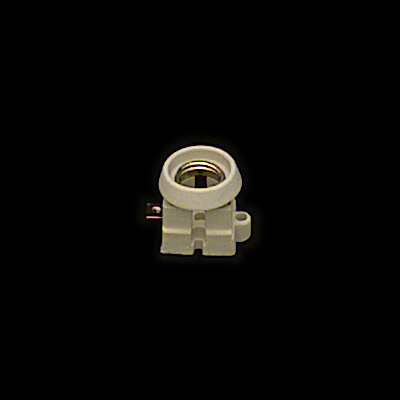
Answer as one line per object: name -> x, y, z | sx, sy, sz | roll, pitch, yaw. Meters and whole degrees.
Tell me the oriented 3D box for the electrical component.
electrical component -> 0.000, 0.000, 0.639 | 0.066, 0.056, 0.048 | 1, 41, 0
